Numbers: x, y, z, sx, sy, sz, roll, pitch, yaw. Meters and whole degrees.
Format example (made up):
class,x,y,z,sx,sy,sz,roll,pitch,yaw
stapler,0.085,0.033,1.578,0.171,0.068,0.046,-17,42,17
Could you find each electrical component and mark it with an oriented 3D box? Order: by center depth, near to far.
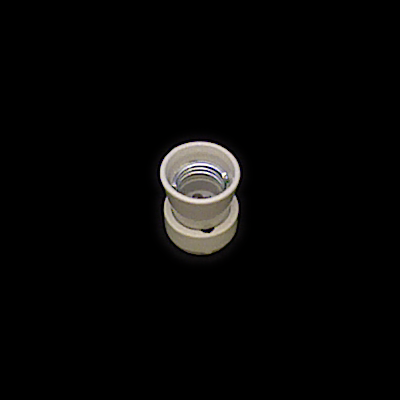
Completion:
class,x,y,z,sx,sy,sz,roll,pitch,yaw
electrical component,0.000,0.000,0.628,0.045,0.044,0.055,0,-38,1
